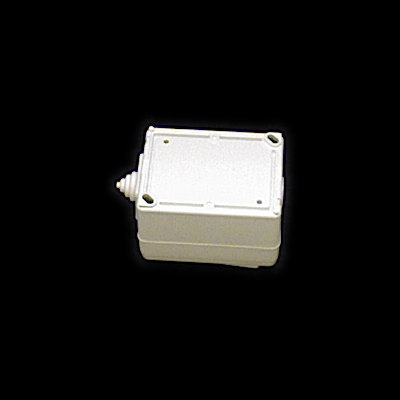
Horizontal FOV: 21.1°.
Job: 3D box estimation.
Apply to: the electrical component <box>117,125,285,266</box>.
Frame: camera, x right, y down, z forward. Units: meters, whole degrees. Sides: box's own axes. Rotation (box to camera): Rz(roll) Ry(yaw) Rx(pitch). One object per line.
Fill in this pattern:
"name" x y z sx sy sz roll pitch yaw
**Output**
"electrical component" 0.000 0.000 0.627 0.096 0.061 0.061 3 -37 2
